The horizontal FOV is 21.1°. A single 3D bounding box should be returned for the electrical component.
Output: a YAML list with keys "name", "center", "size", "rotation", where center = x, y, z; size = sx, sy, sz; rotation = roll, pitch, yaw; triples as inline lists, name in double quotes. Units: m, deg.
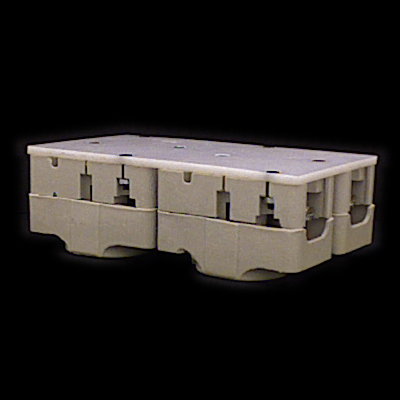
- name: "electrical component"
  center: [0.000, 0.000, 0.644]
  size: [0.185, 0.061, 0.105]
  rotation: [7, 12, 31]
